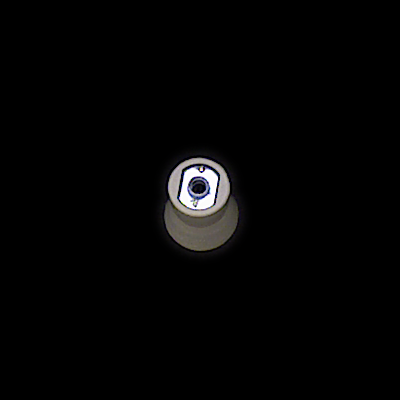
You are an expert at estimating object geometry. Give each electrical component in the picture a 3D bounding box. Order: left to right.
[{"bbox_3d":[0.000,0.000,0.625,0.044,0.044,0.065,0,-17,1],"label":"electrical component"}]
